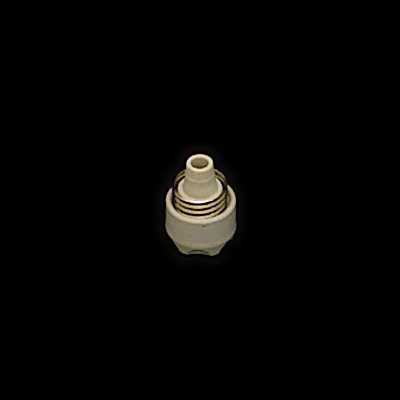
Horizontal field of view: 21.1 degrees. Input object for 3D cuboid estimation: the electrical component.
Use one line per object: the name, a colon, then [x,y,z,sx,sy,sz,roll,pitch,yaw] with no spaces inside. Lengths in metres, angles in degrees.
electrical component: [0.000,0.000,0.637,0.043,0.062,0.043,0,43,1]
